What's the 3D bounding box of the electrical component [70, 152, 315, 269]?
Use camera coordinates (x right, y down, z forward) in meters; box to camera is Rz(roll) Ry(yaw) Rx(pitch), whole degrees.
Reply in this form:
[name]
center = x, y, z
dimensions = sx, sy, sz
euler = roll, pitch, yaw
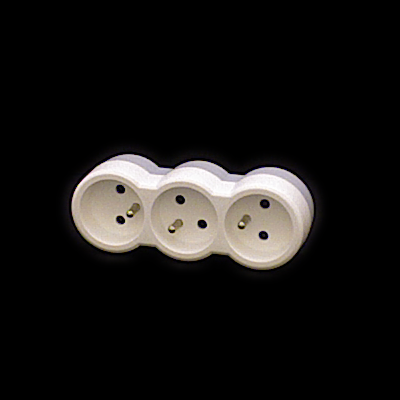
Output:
[electrical component]
center = 0.000, 0.000, 0.641
dimensions = 0.138, 0.053, 0.073
euler = 5, 19, 13
